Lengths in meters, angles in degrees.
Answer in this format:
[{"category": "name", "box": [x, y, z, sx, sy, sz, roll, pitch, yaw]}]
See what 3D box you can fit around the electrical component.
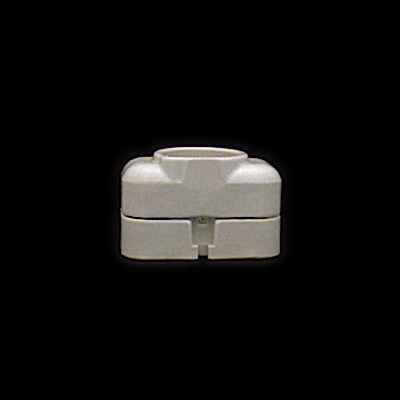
[{"category": "electrical component", "box": [0.000, 0.000, 0.649, 0.095, 0.060, 0.053, 0, 11, -6]}]
